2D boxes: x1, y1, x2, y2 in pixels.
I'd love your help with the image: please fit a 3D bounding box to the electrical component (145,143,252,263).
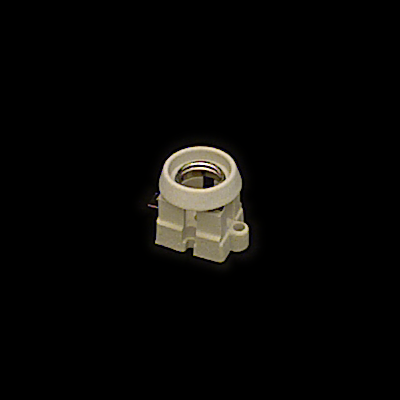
[{"bbox_3d":[0.000,0.000,0.639,0.066,0.056,0.048,15,43,15],"label":"electrical component"}]
